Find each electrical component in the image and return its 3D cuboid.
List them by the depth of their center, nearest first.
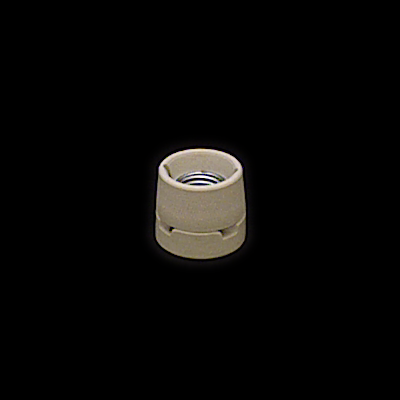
[{"bbox_3d":[0.000,0.000,0.638,0.055,0.047,0.055,0,31,0],"label":"electrical component"}]
